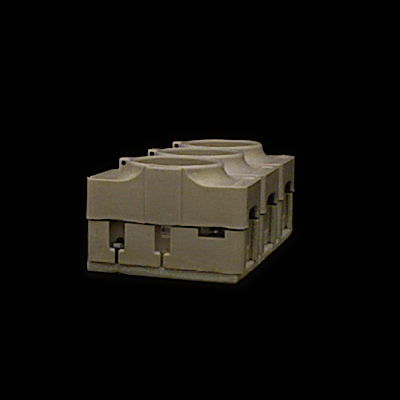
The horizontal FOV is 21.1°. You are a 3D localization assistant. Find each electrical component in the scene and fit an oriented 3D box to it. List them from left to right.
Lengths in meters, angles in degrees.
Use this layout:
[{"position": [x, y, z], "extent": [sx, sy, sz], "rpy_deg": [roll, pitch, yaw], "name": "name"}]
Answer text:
[{"position": [0.000, 0.000, 0.650], "extent": [0.089, 0.062, 0.149], "rpy_deg": [3, 9, 15], "name": "electrical component"}]
